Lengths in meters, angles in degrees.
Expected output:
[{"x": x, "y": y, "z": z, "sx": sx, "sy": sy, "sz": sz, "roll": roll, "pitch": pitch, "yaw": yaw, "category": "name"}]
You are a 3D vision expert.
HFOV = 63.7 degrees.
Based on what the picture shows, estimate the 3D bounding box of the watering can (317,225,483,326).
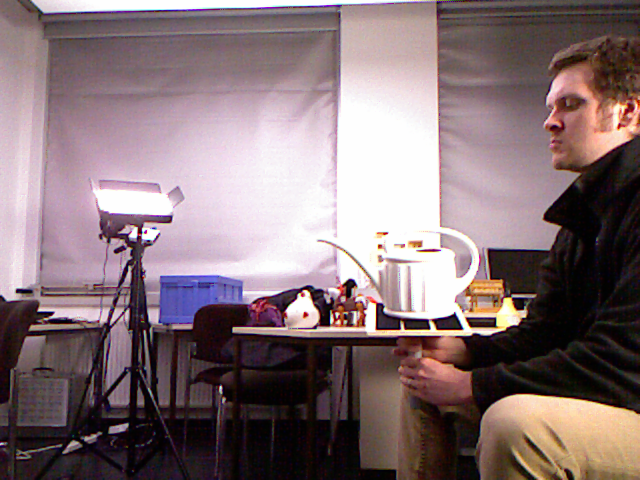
[{"x": 0.170, "y": 0.077, "z": 1.106, "sx": 0.348, "sy": 0.222, "sz": 0.105, "roll": 0, "pitch": 12, "yaw": 4, "category": "watering can"}]
